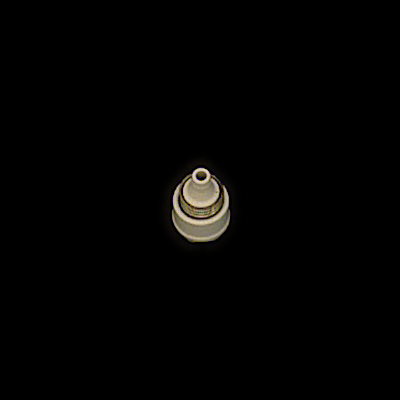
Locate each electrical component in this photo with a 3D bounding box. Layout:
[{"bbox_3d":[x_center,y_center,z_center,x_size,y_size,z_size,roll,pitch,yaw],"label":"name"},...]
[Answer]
[{"bbox_3d":[0.000,0.000,0.637,0.035,0.035,0.061,0,-27,-1],"label":"electrical component"}]
